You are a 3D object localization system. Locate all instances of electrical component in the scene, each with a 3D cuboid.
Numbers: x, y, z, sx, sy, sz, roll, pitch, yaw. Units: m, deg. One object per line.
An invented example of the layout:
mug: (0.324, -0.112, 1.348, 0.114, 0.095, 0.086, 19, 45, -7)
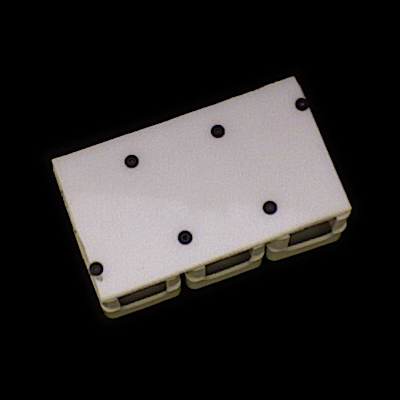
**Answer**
electrical component: (0.000, 0.000, 0.631, 0.150, 0.089, 0.062, -19, -16, -6)
